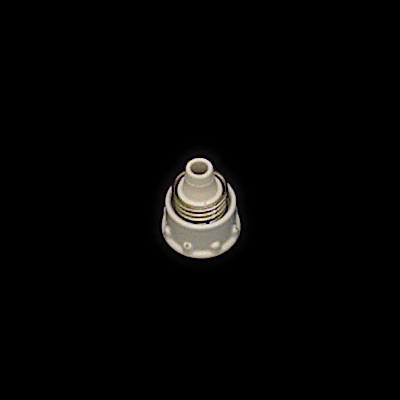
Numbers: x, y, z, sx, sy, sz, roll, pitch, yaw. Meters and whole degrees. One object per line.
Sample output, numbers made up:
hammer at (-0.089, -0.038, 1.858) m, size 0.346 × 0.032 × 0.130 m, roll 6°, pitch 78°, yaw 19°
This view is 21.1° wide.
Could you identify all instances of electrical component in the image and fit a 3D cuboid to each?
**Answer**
electrical component at (0.000, 0.000, 0.635) m, size 0.048 × 0.048 × 0.062 m, roll 0°, pitch -38°, yaw 0°
